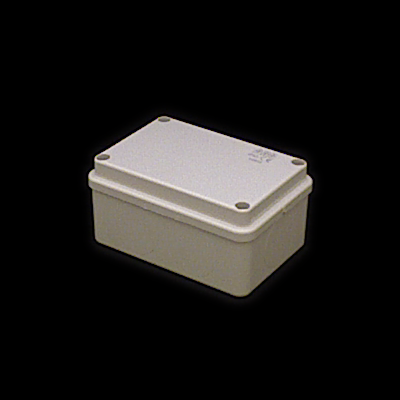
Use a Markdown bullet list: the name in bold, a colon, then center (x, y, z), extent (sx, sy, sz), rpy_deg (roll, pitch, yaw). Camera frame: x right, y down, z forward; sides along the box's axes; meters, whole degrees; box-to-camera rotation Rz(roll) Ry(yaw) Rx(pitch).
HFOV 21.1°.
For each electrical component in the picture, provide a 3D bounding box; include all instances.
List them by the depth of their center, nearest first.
- **electrical component**: center (0.000, 0.000, 0.636), extent (0.112, 0.058, 0.077), rpy_deg (20, 36, 28)
